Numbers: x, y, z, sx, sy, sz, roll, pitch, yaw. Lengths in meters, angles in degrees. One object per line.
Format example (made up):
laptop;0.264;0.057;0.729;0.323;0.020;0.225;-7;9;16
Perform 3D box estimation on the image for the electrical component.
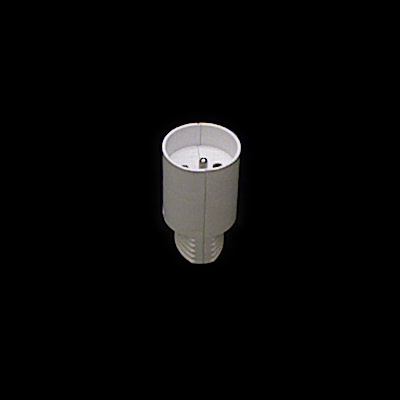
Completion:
electrical component;0.000;0.000;0.622;0.043;0.082;0.042;0;42;0
